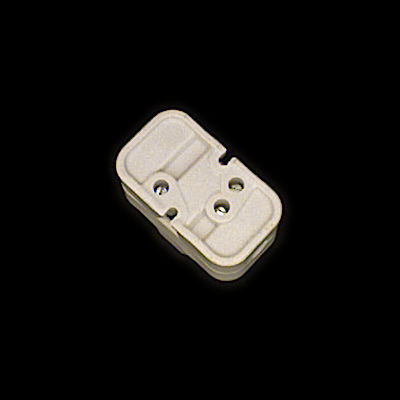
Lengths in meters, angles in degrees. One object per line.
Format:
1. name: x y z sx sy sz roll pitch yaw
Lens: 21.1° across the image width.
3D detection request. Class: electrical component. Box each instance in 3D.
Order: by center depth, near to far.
1. electrical component: 0.000 0.000 0.636 0.095 0.054 0.059 42 -11 11
